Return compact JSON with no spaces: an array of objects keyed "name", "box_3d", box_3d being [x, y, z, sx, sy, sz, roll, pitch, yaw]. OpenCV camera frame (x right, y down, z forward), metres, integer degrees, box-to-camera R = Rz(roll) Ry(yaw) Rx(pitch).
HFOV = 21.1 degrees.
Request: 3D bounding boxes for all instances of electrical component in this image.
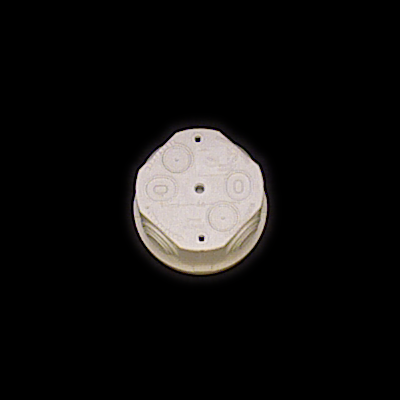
[{"name":"electrical component","box_3d":[0.000,0.000,0.632,0.080,0.080,0.050,0,-18,0]}]
